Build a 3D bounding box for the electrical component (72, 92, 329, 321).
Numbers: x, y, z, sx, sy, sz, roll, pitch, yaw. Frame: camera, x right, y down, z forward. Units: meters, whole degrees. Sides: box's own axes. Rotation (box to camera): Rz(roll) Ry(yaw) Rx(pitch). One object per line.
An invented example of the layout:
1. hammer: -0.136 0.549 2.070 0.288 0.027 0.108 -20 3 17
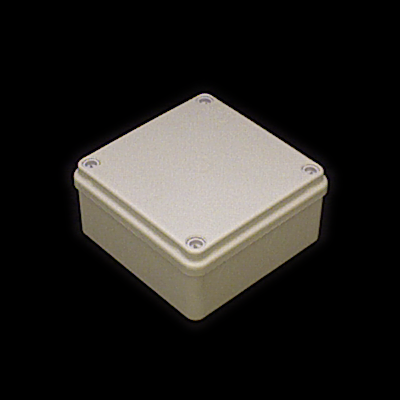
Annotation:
1. electrical component: 0.000 0.000 0.631 0.108 0.056 0.108 -32 51 -30
